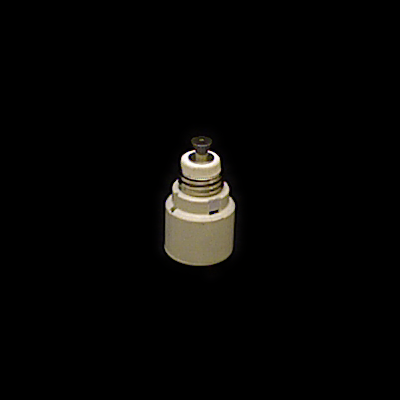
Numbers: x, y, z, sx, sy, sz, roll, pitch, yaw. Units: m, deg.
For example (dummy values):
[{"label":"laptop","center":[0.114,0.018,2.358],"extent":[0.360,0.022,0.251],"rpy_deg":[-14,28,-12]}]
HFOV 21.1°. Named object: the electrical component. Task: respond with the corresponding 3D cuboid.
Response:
[{"label":"electrical component","center":[0.000,0.000,0.629],"extent":[0.040,0.079,0.039],"rpy_deg":[1,30,0]}]
